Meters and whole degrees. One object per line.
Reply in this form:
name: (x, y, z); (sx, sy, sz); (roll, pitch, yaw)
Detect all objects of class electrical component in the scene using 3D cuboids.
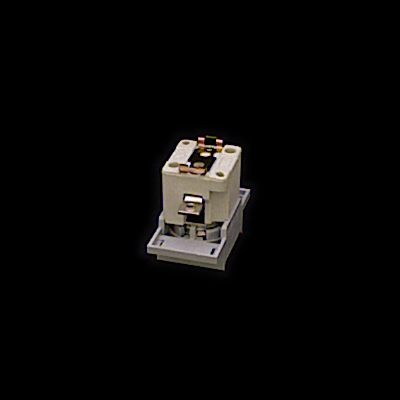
electrical component: (0.000, 0.000, 0.634); (0.042, 0.064, 0.080); (9, 32, 13)
